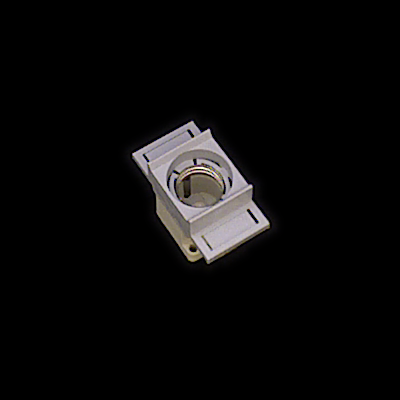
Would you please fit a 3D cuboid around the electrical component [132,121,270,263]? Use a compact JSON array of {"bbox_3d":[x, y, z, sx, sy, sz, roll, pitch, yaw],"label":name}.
[{"bbox_3d":[0.000,0.000,0.623,0.042,0.081,0.063,-29,-24,-15],"label":"electrical component"}]
